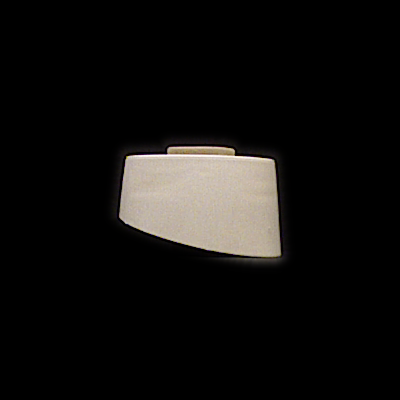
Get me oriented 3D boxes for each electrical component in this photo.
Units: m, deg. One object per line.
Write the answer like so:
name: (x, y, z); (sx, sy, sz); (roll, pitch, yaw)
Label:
electrical component: (0.000, 0.000, 0.649); (0.099, 0.064, 0.099); (2, 0, 0)
